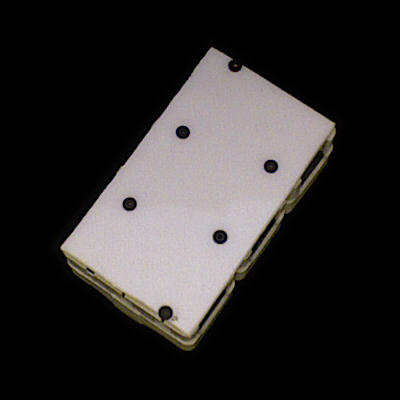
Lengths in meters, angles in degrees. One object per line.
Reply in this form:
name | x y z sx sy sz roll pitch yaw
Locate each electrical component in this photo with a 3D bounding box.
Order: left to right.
electrical component | 0.000 0.000 0.631 0.089 0.150 0.062 34 -14 9
